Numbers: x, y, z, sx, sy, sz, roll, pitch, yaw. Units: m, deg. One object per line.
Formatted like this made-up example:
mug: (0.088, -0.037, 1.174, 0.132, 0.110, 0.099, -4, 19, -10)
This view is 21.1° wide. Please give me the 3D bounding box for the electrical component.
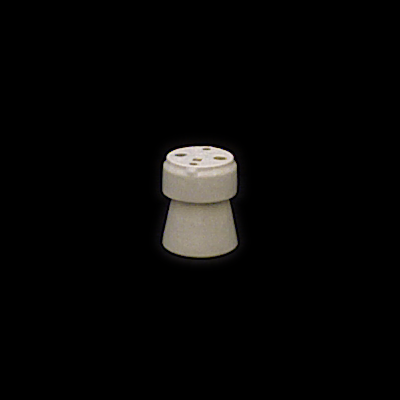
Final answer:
electrical component: (0.000, 0.000, 0.640, 0.045, 0.056, 0.044, 1, 21, 0)
